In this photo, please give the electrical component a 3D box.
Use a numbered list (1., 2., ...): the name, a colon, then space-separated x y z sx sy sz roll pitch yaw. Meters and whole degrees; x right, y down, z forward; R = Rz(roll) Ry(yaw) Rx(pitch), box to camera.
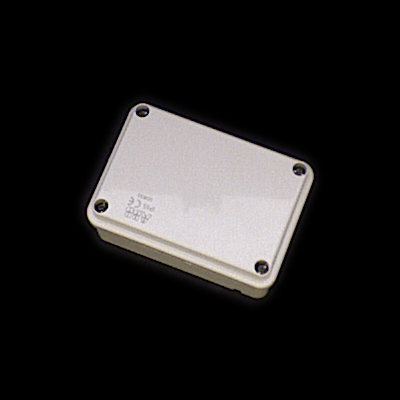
1. electrical component: 0.000 0.000 0.626 0.113 0.078 0.057 21 -16 6
